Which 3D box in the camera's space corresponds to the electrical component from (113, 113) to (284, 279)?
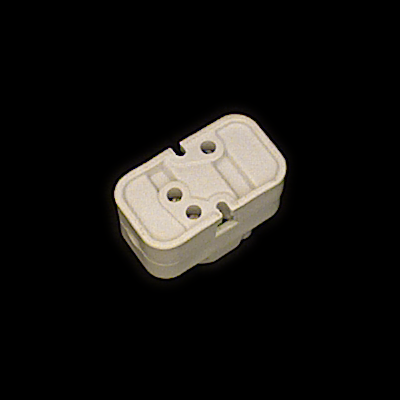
[{"bbox_3d":[0.000,0.000,0.634,0.095,0.053,0.059,-31,-23,-15],"label":"electrical component"}]
